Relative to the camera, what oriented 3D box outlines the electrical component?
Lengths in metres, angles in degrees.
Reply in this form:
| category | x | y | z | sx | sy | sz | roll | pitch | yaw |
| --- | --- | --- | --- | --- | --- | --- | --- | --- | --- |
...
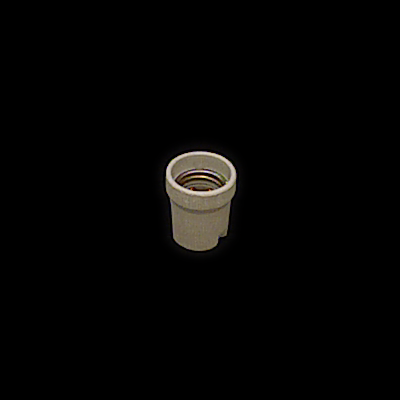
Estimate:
| category | x | y | z | sx | sy | sz | roll | pitch | yaw |
| --- | --- | --- | --- | --- | --- | --- | --- | --- | --- |
| electrical component | 0.000 | 0.000 | 0.633 | 0.040 | 0.047 | 0.039 | 1 | 42 | 0 |
